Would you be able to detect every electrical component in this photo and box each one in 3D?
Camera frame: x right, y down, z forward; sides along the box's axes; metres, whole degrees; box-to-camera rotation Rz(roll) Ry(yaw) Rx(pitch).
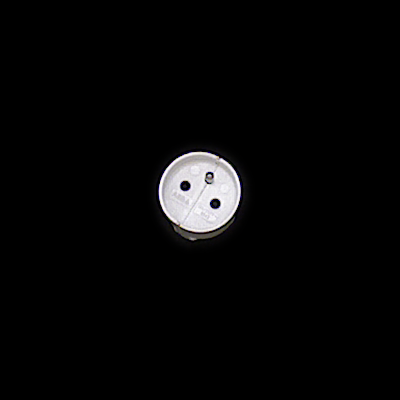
[{"bbox_3d":[0.000,0.000,0.616,0.043,0.043,0.080,0,-6,-1],"label":"electrical component"}]
